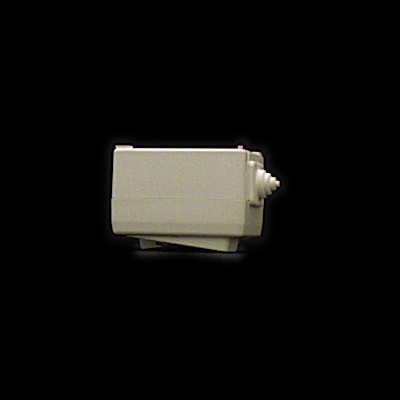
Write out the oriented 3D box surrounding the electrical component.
[{"bbox_3d":[0.000,0.000,0.650,0.096,0.061,0.061,1,0,15],"label":"electrical component"}]
